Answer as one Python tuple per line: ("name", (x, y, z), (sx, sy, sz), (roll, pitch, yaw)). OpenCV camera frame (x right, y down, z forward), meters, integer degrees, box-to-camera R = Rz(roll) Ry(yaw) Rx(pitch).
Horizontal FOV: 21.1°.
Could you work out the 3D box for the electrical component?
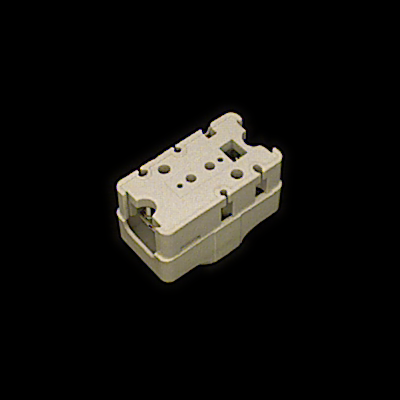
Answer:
("electrical component", (0.000, 0.000, 0.637), (0.090, 0.056, 0.050), (-33, 59, -23))
